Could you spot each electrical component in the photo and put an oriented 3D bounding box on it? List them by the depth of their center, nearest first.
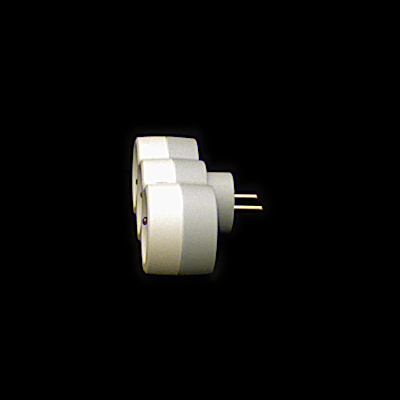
[{"bbox_3d":[0.000,0.000,0.646,0.074,0.053,0.136,0,21,-7],"label":"electrical component"}]
